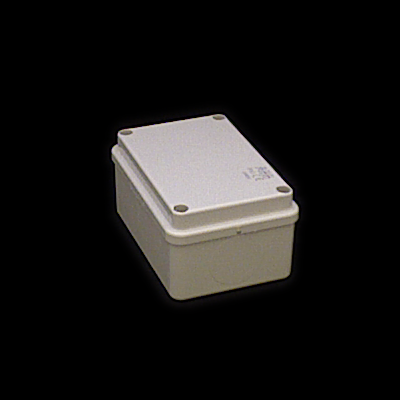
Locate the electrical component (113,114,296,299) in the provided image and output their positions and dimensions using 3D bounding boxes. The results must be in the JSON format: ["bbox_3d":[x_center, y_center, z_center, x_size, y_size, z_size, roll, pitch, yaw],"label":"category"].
[{"bbox_3d":[0.000,0.000,0.635,0.078,0.058,0.111,-11,33,-19],"label":"electrical component"}]
